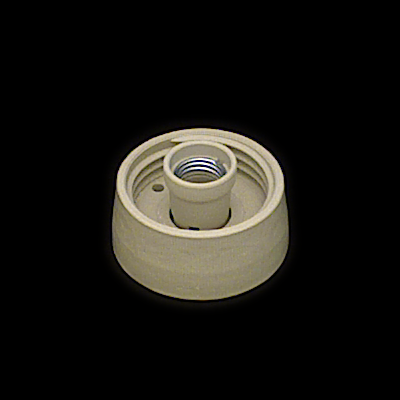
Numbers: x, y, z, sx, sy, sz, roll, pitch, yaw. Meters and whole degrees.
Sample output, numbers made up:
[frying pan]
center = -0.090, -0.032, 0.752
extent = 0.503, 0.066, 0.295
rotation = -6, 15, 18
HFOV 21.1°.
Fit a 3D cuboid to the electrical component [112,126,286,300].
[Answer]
[electrical component]
center = 0.000, 0.000, 0.639
extent = 0.108, 0.061, 0.106
rotation = 1, 42, 0
